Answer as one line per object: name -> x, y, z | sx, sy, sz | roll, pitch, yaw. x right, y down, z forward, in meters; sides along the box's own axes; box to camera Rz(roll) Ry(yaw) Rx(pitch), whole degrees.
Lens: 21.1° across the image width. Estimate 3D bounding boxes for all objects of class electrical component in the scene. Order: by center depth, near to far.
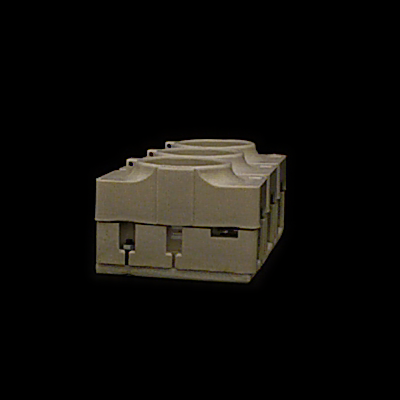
electrical component -> 0.000, 0.000, 0.650 | 0.089, 0.062, 0.148 | 2, 9, 10
